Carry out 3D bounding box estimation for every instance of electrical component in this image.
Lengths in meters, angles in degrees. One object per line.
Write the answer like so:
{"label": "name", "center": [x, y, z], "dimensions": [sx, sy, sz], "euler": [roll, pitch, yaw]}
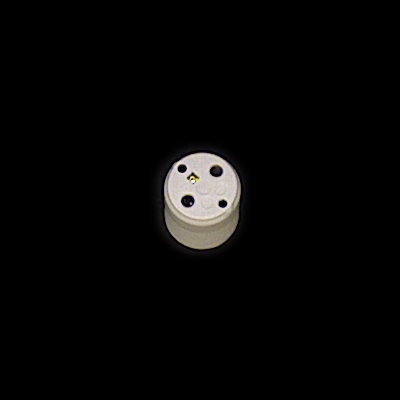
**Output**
{"label": "electrical component", "center": [0.000, 0.000, 0.629], "dimensions": [0.045, 0.045, 0.055], "euler": [0, -16, 0]}
